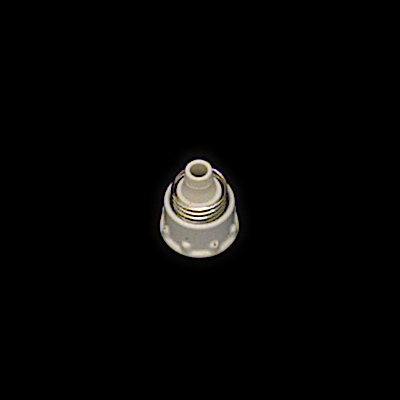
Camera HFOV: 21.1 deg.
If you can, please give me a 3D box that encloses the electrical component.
[{"bbox_3d":[0.000,0.000,0.634,0.048,0.048,0.062,0,-36,0],"label":"electrical component"}]
